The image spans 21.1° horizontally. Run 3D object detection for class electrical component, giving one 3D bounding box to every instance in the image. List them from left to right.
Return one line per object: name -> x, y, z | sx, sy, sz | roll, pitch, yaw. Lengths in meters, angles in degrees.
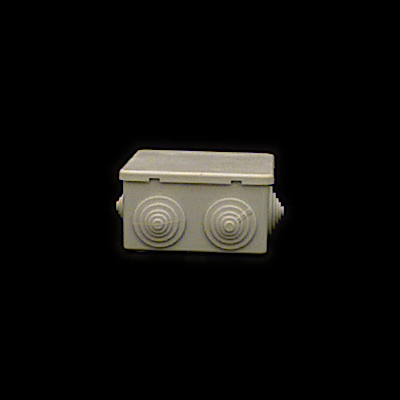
electrical component -> 0.000, 0.000, 0.654 | 0.099, 0.049, 0.099 | 2, 11, 3
